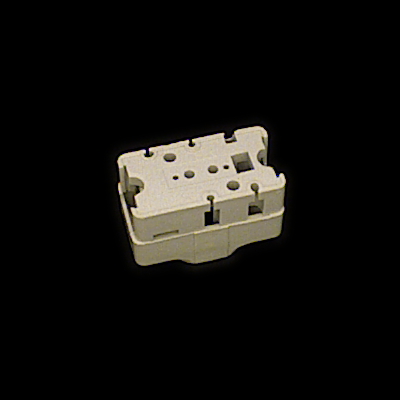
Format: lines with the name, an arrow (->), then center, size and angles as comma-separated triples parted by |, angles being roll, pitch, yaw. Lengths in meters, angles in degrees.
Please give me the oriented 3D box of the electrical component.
electrical component -> 0.000, 0.000, 0.638 | 0.090, 0.050, 0.056 | -12, -37, -10
